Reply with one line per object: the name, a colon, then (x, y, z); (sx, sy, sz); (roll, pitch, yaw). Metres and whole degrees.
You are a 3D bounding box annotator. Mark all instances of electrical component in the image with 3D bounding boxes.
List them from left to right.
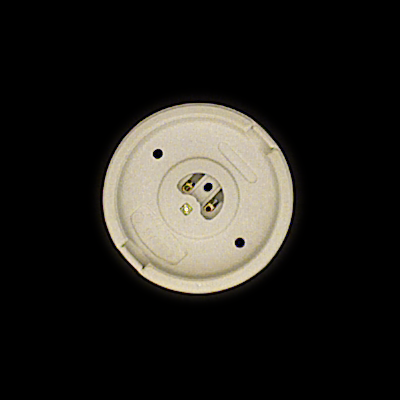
electrical component: (0.000, 0.000, 0.634); (0.108, 0.108, 0.060); (0, -6, 0)
